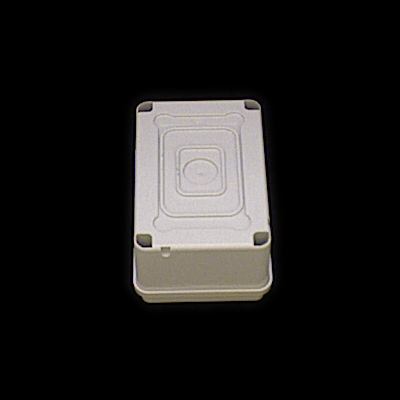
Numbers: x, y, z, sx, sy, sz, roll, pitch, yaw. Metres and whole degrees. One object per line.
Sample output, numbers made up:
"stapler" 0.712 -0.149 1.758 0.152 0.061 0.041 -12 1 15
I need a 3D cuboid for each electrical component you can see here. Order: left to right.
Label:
"electrical component" 0.000 0.000 0.629 0.078 0.112 0.057 -1 -38 -1
